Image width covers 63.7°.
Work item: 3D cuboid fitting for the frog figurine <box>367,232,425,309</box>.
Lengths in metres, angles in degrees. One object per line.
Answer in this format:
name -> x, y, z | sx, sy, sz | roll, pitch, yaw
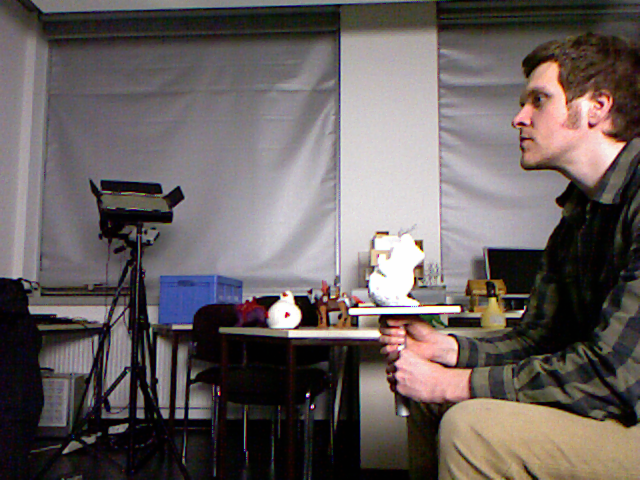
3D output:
frog figurine -> 0.154, 0.062, 1.056 | 0.122, 0.161, 0.137 | -4, -8, 17
